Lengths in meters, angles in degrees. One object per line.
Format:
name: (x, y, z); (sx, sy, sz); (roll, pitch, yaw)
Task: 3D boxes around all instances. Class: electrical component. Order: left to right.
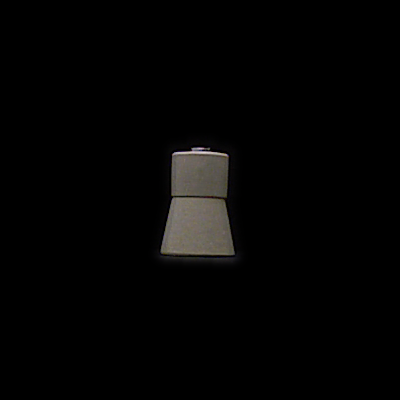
electrical component: (0.000, 0.000, 0.650); (0.044, 0.065, 0.044); (2, 0, 0)
